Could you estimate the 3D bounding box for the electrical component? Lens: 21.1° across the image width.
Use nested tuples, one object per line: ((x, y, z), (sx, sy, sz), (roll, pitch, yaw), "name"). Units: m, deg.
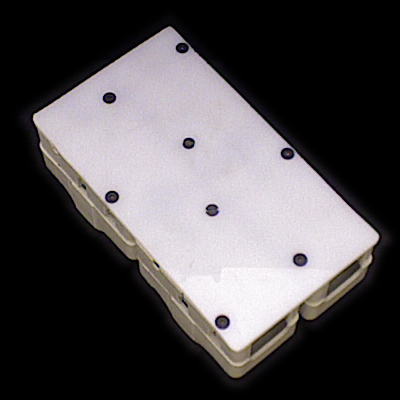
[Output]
((0.000, 0.000, 0.625), (0.106, 0.186, 0.060), (-36, -21, -17), "electrical component")
